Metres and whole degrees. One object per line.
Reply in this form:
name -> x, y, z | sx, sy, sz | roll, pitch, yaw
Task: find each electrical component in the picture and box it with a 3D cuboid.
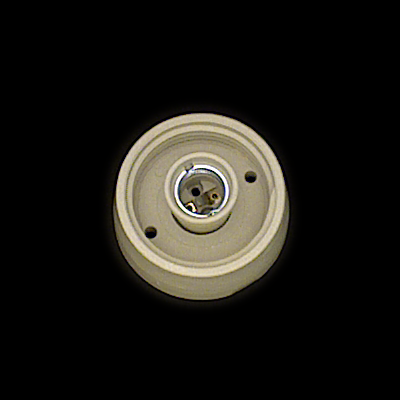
electrical component -> 0.000, 0.000, 0.633 | 0.108, 0.108, 0.060 | 0, -16, 0
